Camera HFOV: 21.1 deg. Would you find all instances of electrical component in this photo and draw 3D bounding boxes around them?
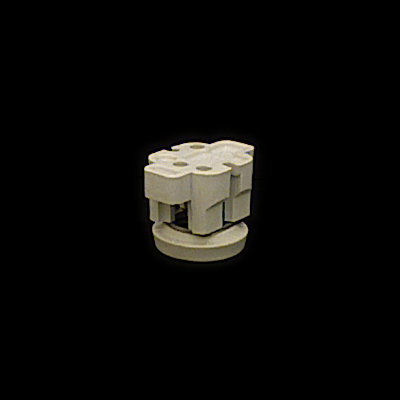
[{"bbox_3d":[0.000,0.000,0.648,0.057,0.057,0.079,16,25,35],"label":"electrical component"}]
